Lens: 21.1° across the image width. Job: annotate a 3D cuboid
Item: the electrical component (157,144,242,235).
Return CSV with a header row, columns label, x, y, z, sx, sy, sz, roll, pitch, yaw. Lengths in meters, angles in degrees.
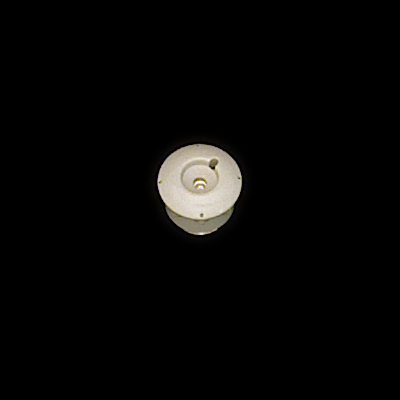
label,x,y,z,sx,sy,sz,roll,pitch,yaw
electrical component,0.000,0.000,0.634,0.048,0.048,0.062,0,-27,0
